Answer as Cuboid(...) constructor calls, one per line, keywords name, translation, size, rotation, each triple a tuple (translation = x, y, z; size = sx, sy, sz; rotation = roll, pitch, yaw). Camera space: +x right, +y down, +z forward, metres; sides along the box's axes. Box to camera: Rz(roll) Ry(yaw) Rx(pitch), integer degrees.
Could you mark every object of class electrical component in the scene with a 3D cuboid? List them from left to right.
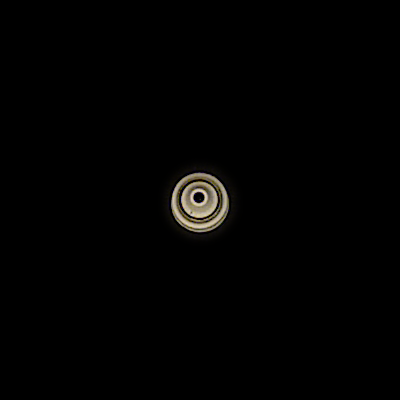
Cuboid(name="electrical component", translation=(0.000, 0.000, 0.638), size=(0.035, 0.035, 0.061), rotation=(0, -4, 1))
